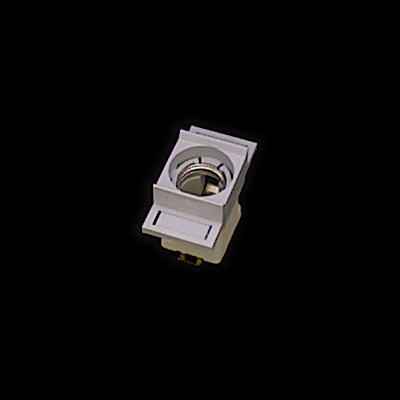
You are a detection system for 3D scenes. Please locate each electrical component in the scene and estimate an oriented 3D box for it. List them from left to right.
[{"bbox_3d":[0.000,0.000,0.628,0.042,0.080,0.064,16,-36,13],"label":"electrical component"}]
